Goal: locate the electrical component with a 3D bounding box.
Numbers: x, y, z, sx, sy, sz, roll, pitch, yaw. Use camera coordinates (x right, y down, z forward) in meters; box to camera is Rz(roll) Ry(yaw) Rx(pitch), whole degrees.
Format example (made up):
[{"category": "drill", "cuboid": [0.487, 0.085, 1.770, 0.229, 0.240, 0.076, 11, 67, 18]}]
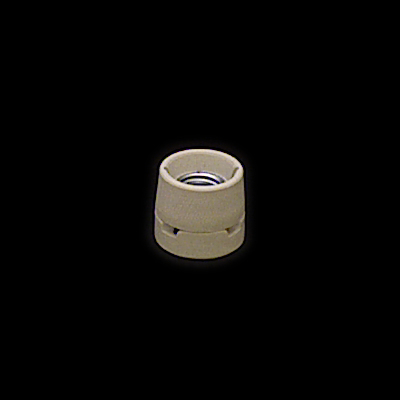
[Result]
[{"category": "electrical component", "cuboid": [0.000, 0.000, 0.638, 0.055, 0.047, 0.055, 2, 32, -1]}]
